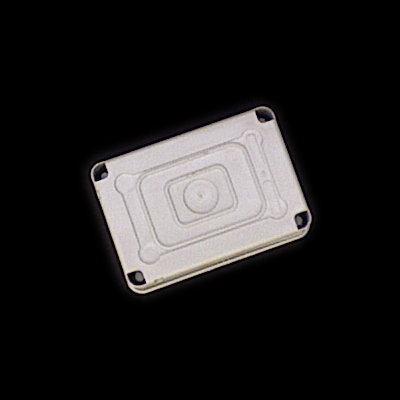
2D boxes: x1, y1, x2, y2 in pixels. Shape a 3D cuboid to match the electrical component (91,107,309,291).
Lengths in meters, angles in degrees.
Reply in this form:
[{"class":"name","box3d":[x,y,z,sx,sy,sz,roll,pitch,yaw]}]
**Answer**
[{"class":"electrical component","box3d":[0.000,0.000,0.629,0.113,0.078,0.057,-19,-6,-2]}]
